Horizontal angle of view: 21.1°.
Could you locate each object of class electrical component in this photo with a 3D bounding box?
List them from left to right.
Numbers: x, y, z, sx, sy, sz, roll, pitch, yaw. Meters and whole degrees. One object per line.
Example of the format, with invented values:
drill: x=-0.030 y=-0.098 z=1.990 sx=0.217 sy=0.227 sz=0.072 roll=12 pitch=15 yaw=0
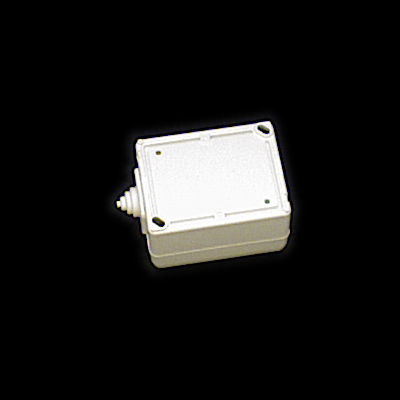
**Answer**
electrical component: x=0.000 y=0.000 z=0.625 sx=0.096 sy=0.062 sz=0.060 roll=-8 pitch=-27 yaw=-5
